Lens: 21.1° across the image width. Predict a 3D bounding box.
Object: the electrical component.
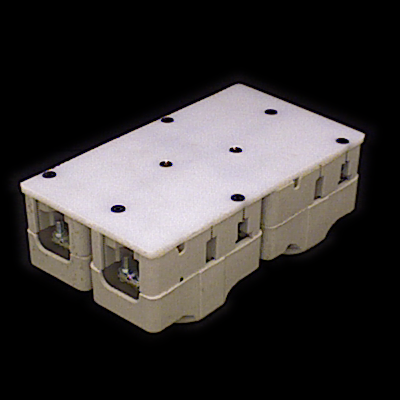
[{"bbox_3d":[0.000,0.000,0.633,0.104,0.061,0.185,26,39,35],"label":"electrical component"}]
